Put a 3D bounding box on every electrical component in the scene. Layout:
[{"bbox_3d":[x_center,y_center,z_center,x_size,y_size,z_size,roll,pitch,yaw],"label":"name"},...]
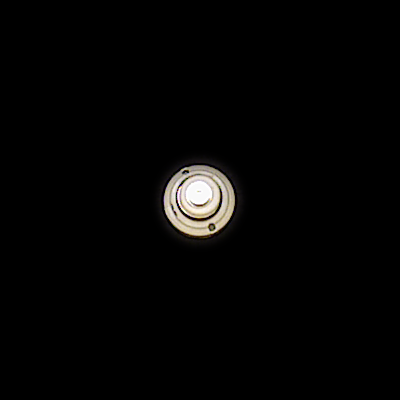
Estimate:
[{"bbox_3d":[0.000,0.000,0.618,0.040,0.040,0.078,0,-5,-1],"label":"electrical component"}]
